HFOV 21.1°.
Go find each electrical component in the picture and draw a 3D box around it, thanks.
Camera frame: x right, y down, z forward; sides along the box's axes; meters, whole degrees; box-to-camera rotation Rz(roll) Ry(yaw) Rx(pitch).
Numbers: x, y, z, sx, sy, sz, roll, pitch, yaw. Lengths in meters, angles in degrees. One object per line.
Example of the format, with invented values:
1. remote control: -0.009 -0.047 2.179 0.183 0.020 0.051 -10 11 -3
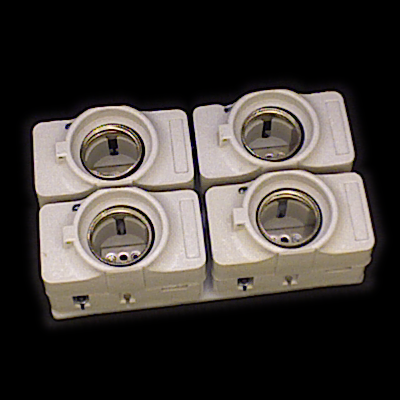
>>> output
1. electrical component: 0.000 0.000 0.625 0.186 0.106 0.060 -6 -27 -3
